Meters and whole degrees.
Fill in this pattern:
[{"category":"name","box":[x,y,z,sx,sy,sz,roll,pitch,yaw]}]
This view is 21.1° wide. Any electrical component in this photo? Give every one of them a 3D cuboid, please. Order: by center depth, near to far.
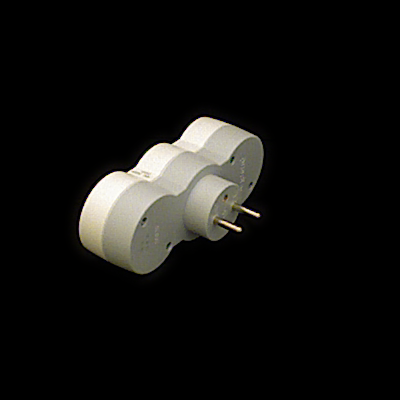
[{"category":"electrical component","box":[0.000,0.000,0.641,0.073,0.053,0.138,23,38,28]}]
